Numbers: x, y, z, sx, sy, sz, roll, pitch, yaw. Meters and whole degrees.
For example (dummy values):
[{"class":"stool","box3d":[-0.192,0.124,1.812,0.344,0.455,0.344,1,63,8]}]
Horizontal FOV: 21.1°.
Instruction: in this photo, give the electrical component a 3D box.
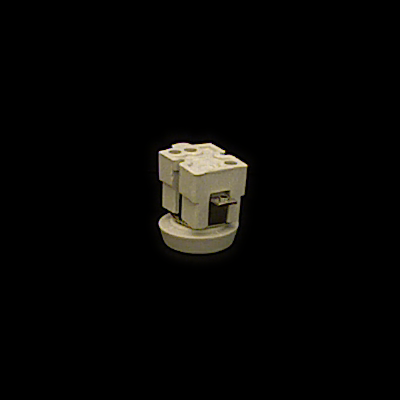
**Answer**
[{"class":"electrical component","box3d":[0.000,0.000,0.647,0.049,0.056,0.065,-11,26,-29]}]
